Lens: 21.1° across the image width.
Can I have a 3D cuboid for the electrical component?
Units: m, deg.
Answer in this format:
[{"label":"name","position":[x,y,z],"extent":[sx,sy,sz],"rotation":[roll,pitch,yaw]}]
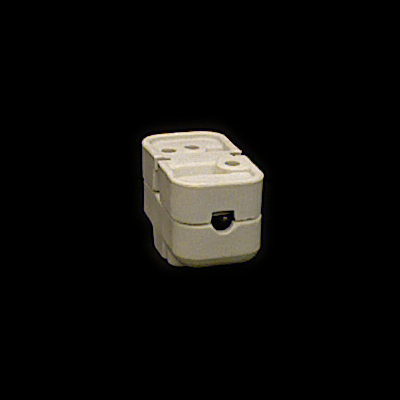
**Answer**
[{"label":"electrical component","position":[0.000,0.000,0.644],"extent":[0.054,0.060,0.093],"rotation":[-6,23,-16]}]
